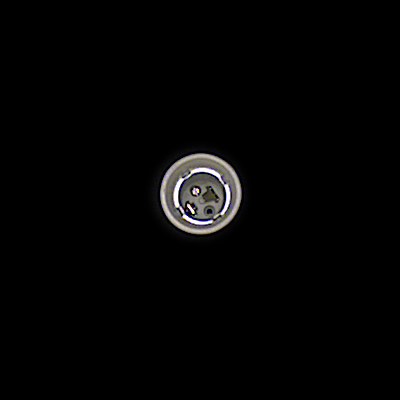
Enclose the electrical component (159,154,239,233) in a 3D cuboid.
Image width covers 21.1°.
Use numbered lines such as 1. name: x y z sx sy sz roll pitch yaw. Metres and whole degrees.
1. electrical component: 0.000 0.000 0.625 0.044 0.044 0.065 0 -7 2
